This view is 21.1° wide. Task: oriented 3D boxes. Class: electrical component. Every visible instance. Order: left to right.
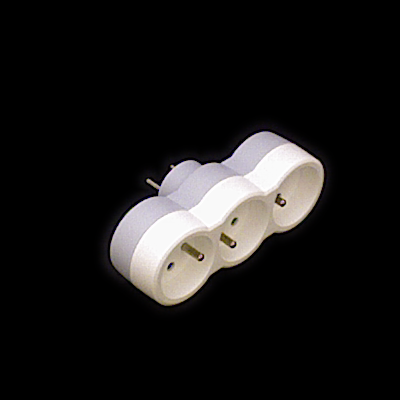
[{"bbox_3d":[0.000,0.000,0.632,0.138,0.052,0.073,-32,50,-30],"label":"electrical component"}]
